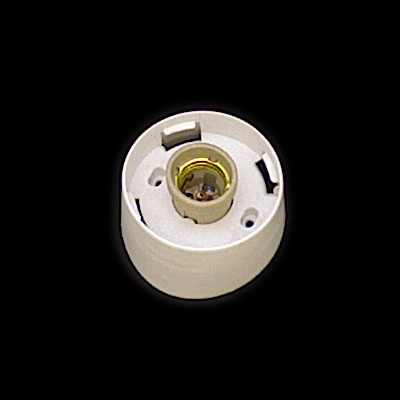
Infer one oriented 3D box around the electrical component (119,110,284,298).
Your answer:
[{"bbox_3d":[0.000,0.000,0.626,0.099,0.099,0.064,0,-27,0],"label":"electrical component"}]
